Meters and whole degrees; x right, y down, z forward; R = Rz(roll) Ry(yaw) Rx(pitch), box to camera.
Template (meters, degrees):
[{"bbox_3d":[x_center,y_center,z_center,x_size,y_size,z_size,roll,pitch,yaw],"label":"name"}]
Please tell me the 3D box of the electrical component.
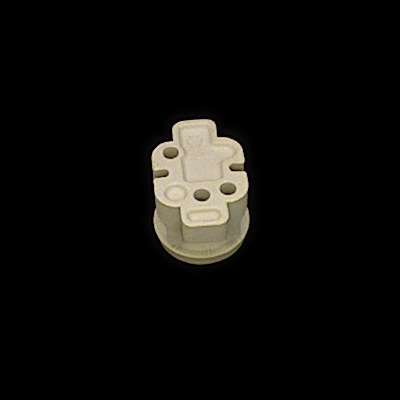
[{"bbox_3d":[0.000,0.000,0.637,0.058,0.078,0.057,-6,-38,-4],"label":"electrical component"}]
